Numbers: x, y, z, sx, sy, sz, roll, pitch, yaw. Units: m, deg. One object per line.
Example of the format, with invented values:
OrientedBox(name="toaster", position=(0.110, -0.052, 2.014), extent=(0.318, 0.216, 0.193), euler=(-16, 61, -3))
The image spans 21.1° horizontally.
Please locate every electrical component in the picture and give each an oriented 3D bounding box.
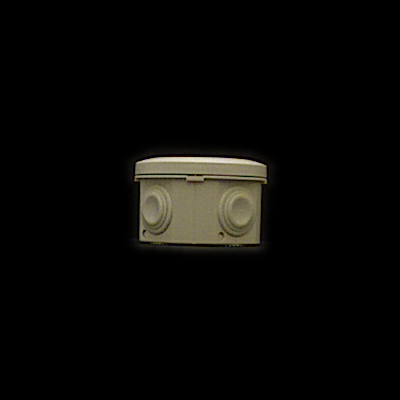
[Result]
OrientedBox(name="electrical component", position=(0.000, 0.000, 0.652), extent=(0.080, 0.051, 0.080), euler=(1, 0, 0))
